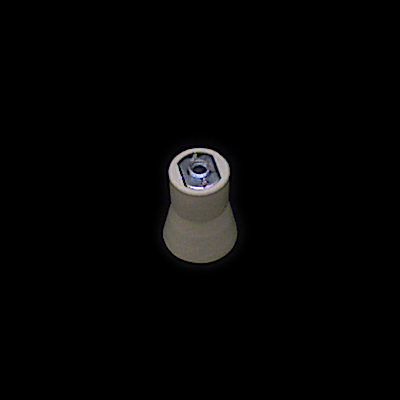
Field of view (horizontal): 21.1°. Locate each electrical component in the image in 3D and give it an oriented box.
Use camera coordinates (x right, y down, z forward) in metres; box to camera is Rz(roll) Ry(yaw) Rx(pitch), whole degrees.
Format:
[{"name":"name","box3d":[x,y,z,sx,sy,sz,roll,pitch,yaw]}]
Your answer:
[{"name":"electrical component","box3d":[0.000,0.000,0.626,0.044,0.044,0.065,0,-37,1]}]
